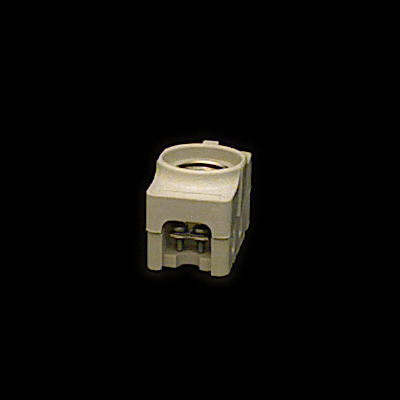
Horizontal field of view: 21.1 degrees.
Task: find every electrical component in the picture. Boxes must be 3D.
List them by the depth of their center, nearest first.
[{"bbox_3d":[0.000,0.000,0.647,0.050,0.056,0.089,5,22,9],"label":"electrical component"}]
